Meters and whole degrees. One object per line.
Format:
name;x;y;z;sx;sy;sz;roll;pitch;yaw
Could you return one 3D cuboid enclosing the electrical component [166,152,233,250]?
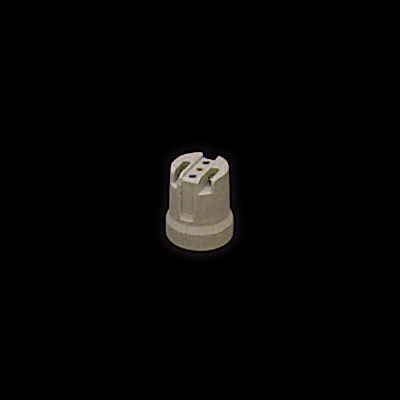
electrical component;0.000;0.000;0.638;0.040;0.046;0.040;1;31;0
